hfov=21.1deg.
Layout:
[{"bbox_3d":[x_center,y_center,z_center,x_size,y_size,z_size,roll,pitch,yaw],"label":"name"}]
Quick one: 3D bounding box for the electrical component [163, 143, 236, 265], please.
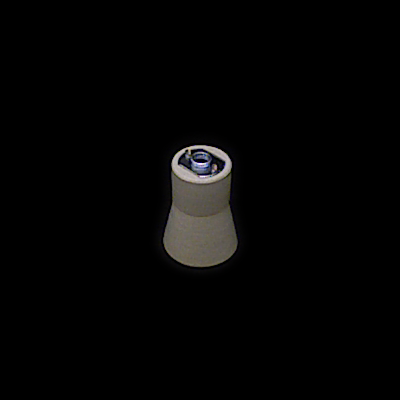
[{"bbox_3d":[0.000,0.000,0.630,0.044,0.066,0.044,1,41,-1],"label":"electrical component"}]
